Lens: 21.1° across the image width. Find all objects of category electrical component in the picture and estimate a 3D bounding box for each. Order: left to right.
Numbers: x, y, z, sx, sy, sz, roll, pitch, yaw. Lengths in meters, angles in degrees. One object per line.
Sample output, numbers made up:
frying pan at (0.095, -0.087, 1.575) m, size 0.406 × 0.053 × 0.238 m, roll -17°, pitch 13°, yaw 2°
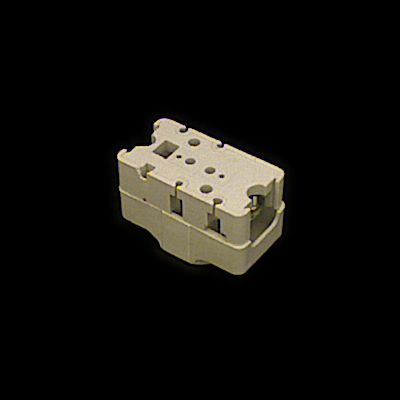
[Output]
electrical component at (0.000, 0.000, 0.639) m, size 0.089 × 0.056 × 0.050 m, roll 25°, pitch 49°, yaw 25°
